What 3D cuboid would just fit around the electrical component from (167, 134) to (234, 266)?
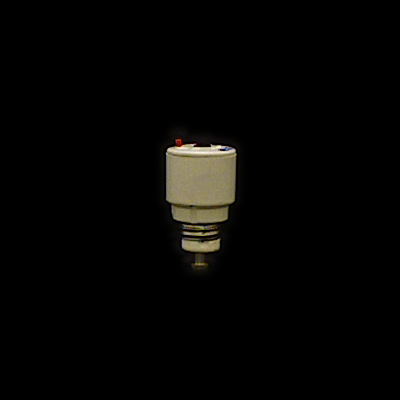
[{"bbox_3d":[0.000,0.000,0.643,0.040,0.079,0.040,1,11,0],"label":"electrical component"}]
